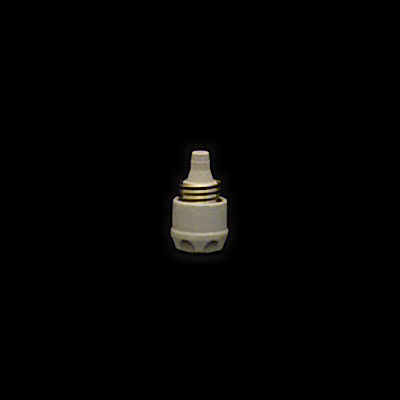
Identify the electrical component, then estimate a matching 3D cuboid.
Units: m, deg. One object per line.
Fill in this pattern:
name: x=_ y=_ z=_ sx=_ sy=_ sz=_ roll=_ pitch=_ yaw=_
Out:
electrical component: x=0.000 y=0.000 z=0.658 sx=0.035 sy=0.062 sz=0.035 roll=0 pitch=13 yaw=0
